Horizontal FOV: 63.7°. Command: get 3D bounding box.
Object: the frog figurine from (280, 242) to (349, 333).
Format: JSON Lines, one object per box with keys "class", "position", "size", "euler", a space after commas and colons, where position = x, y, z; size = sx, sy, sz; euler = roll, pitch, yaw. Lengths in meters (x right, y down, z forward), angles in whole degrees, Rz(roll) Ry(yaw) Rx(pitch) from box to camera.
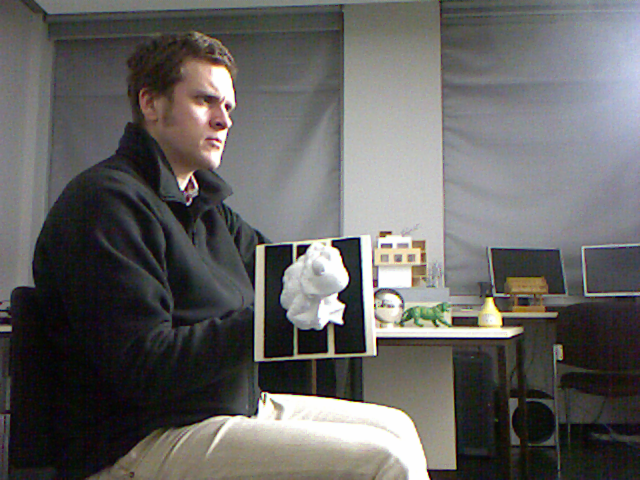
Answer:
{"class": "frog figurine", "position": [-0.012, 0.068, 0.786], "size": [0.124, 0.139, 0.158], "euler": [18, -13, 20]}
